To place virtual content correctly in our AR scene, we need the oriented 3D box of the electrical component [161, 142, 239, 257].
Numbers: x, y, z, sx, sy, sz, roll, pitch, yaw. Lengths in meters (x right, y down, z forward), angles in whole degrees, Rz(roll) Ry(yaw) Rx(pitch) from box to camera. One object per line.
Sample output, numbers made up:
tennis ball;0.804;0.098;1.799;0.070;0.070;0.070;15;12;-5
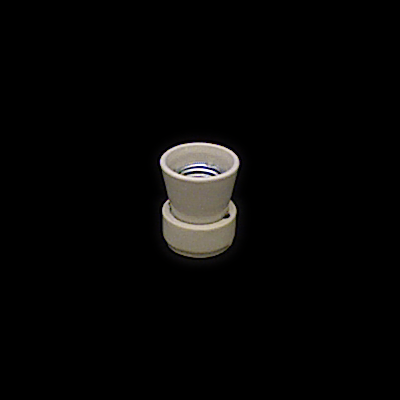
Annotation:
electrical component;0.000;0.000;0.634;0.045;0.056;0.044;0;32;0
